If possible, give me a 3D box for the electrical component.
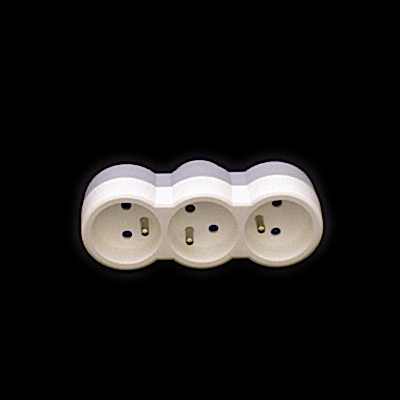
[{"bbox_3d":[0.000,0.000,0.636,0.138,0.053,0.073,-1,30,-3],"label":"electrical component"}]
